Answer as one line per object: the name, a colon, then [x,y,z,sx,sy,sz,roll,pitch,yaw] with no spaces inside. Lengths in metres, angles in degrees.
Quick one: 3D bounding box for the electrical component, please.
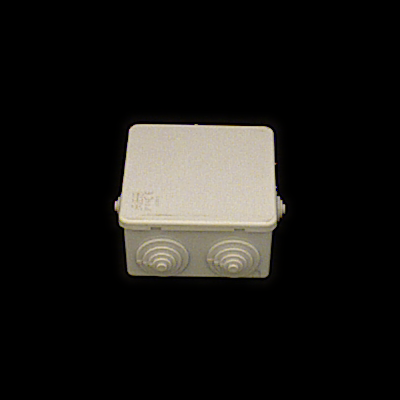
electrical component: [0.000,0.000,0.641,0.100,0.049,0.099,1,43,0]
